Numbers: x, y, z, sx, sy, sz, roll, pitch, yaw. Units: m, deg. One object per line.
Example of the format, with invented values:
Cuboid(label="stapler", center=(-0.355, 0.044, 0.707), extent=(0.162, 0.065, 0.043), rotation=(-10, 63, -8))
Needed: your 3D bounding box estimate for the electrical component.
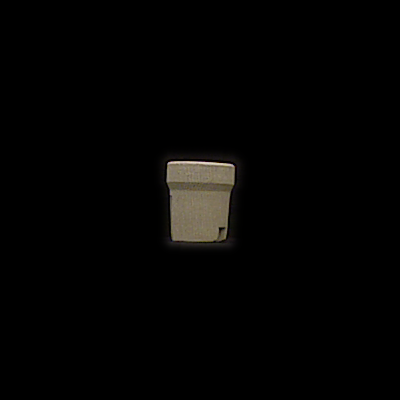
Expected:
Cuboid(label="electrical component", center=(0.000, 0.000, 0.649), extent=(0.040, 0.046, 0.040), rotation=(1, 1, 0))
